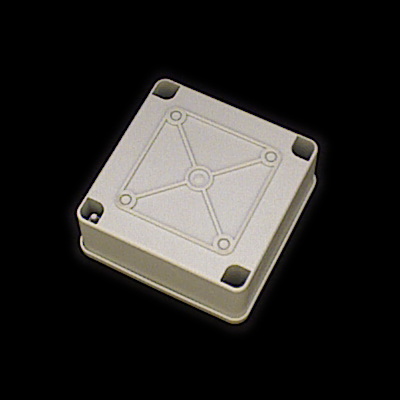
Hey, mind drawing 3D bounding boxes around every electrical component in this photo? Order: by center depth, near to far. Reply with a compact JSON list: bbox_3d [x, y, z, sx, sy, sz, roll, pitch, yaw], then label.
[{"bbox_3d":[0.000,0.000,0.627,0.108,0.109,0.056,24,-24,12],"label":"electrical component"}]
